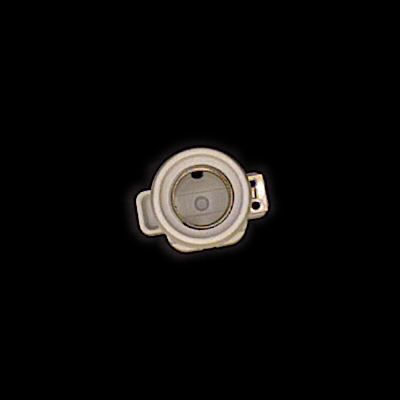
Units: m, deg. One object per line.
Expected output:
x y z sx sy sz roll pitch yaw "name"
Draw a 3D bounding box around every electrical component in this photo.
0.000 0.000 0.630 0.078 0.058 0.056 -10 -6 -1 "electrical component"
